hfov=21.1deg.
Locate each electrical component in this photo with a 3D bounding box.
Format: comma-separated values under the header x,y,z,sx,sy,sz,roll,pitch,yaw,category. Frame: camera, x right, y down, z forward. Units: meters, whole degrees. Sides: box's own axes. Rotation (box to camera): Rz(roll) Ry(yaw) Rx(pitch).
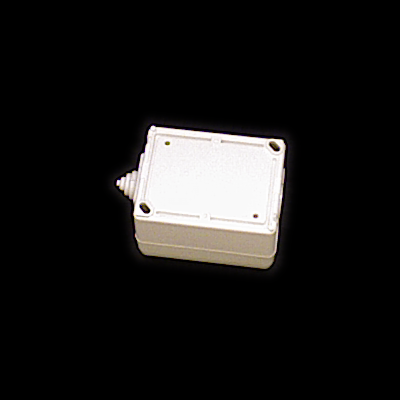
x,y,z,sx,sy,sz,roll,pitch,yaw,category
0.000,0.000,0.629,0.096,0.062,0.061,6,-27,4,electrical component
